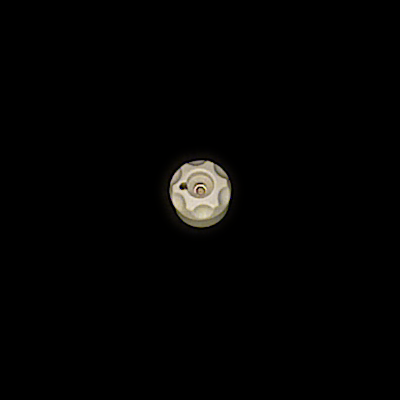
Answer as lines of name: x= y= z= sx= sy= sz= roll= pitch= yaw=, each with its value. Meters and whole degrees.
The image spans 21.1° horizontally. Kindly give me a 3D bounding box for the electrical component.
electrical component: x=0.000 y=0.000 z=0.634 sx=0.035 sy=0.035 sz=0.061 roll=0 pitch=-16 yaw=1
